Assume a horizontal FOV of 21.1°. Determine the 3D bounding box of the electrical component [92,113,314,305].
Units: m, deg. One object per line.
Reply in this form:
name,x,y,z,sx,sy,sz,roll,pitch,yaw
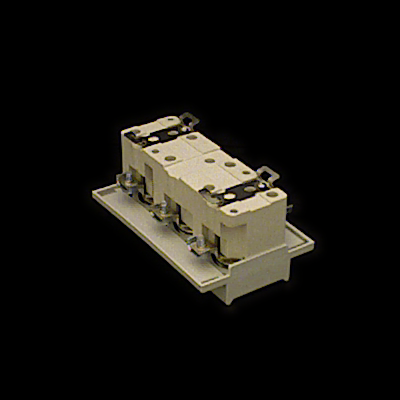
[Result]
electrical component,0.000,0.000,0.639,0.079,0.064,0.119,-20,38,-29
